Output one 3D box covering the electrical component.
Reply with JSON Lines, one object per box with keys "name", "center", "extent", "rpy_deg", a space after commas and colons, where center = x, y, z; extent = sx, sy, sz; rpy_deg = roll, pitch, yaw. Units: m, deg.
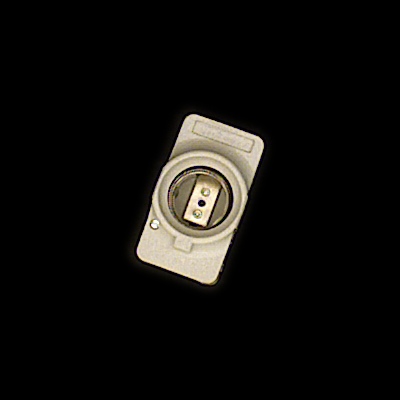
{"name": "electrical component", "center": [0.000, 0.000, 0.637], "extent": [0.050, 0.090, 0.055], "rpy_deg": [19, -5, 3]}
